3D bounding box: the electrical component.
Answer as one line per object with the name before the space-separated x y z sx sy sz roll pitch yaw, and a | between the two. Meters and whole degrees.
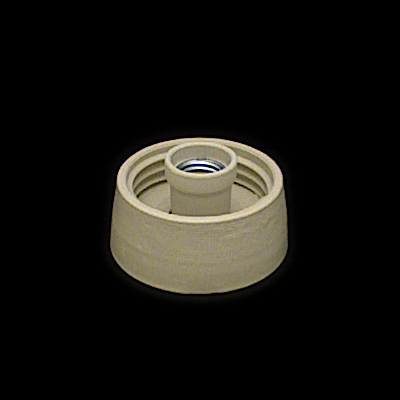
electrical component | 0.000 0.000 0.640 0.108 0.061 0.106 1 32 0
